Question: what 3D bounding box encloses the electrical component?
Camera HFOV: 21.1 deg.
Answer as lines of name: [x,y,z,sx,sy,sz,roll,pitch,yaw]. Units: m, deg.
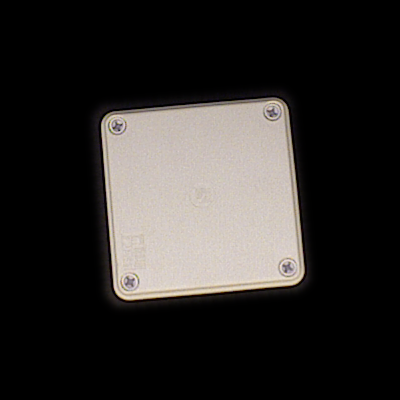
electrical component: [0.000,0.000,0.631,0.109,0.109,0.056,-5,-7,-1]
